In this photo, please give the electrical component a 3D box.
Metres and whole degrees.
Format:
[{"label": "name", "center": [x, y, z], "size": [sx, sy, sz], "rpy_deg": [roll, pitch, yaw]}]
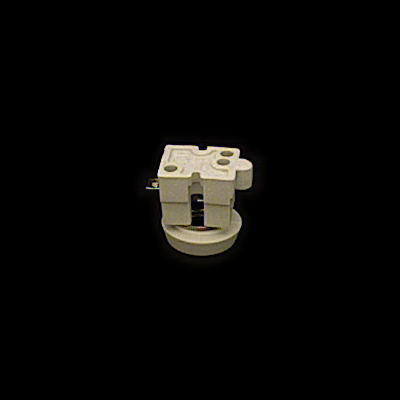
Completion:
[{"label": "electrical component", "center": [0.000, 0.000, 0.644], "size": [0.066, 0.056, 0.048], "rpy_deg": [4, 34, 6]}]
